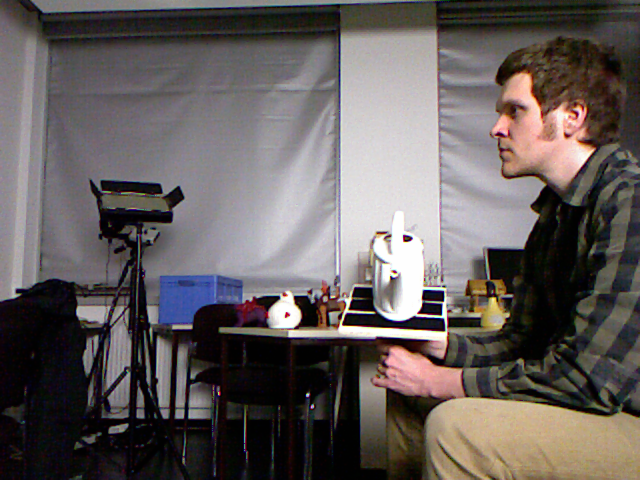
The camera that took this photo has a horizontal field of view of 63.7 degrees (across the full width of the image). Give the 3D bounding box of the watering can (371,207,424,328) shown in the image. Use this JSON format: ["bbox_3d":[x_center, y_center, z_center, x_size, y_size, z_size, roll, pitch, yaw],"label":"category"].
[{"bbox_3d":[0.148,0.070,0.995,0.104,0.221,0.354,1,22,11],"label":"watering can"}]
